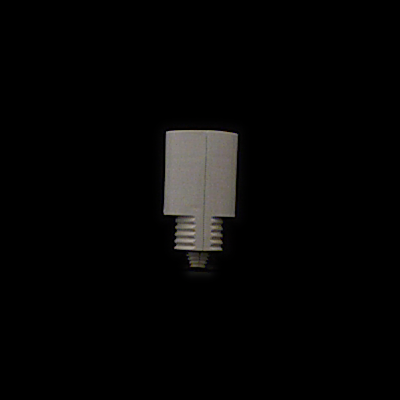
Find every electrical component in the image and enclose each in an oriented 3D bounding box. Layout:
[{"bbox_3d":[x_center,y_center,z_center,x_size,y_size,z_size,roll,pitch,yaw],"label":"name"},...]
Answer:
[{"bbox_3d":[0.000,0.000,0.648,0.043,0.081,0.043,1,2,0],"label":"electrical component"}]
